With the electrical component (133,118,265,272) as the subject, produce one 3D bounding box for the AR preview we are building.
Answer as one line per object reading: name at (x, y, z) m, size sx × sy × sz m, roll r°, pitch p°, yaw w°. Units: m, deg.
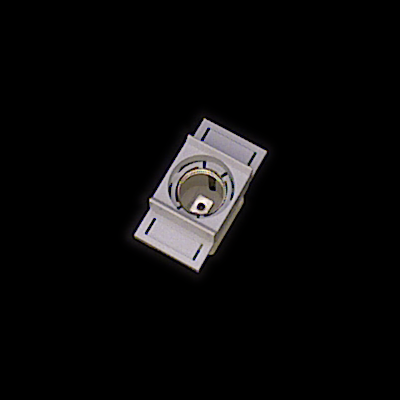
electrical component at (0.000, 0.000, 0.623) m, size 0.042 × 0.081 × 0.063 m, roll 29°, pitch -15°, yaw 7°
